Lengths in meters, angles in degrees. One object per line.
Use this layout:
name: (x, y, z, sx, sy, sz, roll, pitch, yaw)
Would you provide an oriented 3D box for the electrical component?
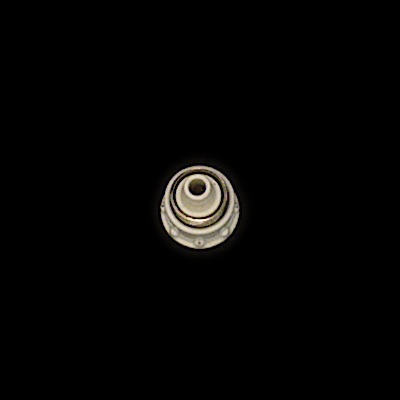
electrical component: (0.000, 0.000, 0.633, 0.048, 0.048, 0.061, 0, -15, 1)
